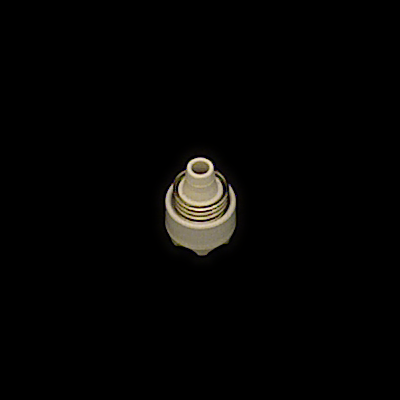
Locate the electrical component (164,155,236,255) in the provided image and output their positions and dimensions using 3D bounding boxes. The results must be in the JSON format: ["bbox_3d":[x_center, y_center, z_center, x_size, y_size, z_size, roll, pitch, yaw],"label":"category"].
[{"bbox_3d":[0.000,0.000,0.636,0.043,0.043,0.062,0,-38,0],"label":"electrical component"}]
